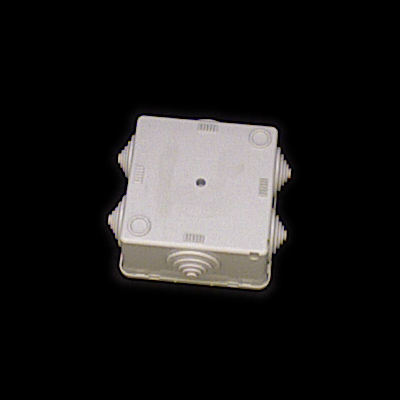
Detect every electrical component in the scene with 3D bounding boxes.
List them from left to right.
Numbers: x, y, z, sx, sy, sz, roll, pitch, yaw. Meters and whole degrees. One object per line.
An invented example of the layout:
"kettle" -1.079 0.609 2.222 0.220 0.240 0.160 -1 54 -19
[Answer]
"electrical component" 0.000 0.000 0.631 0.100 0.100 0.048 5 -27 3
